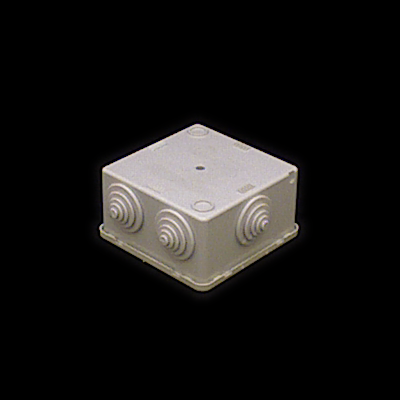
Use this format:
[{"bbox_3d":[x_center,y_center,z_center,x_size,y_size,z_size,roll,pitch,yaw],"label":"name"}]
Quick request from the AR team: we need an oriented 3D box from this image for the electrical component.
[{"bbox_3d":[0.000,0.000,0.637,0.099,0.049,0.099,27,40,35],"label":"electrical component"}]
